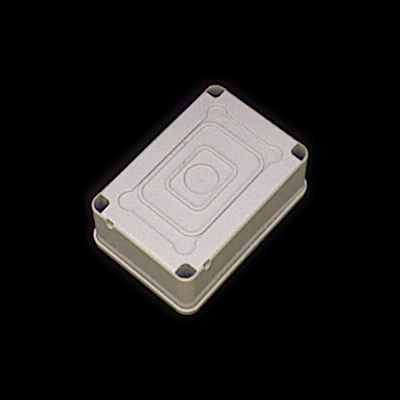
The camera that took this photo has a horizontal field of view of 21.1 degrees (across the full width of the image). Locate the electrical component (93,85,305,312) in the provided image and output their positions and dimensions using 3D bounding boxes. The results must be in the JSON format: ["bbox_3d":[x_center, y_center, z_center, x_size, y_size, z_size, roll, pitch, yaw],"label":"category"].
[{"bbox_3d":[0.000,0.000,0.628,0.078,0.113,0.057,38,-22,17],"label":"electrical component"}]
